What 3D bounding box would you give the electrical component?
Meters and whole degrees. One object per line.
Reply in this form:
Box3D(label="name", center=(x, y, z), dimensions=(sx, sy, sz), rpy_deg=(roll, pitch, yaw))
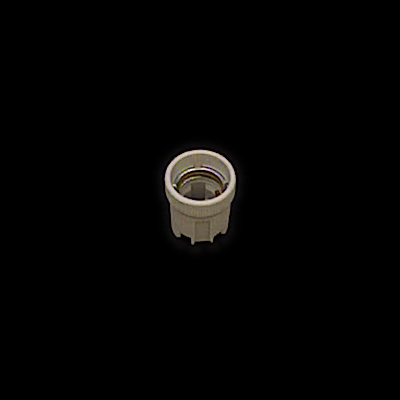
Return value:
Box3D(label="electrical component", center=(0.000, 0.000, 0.629), dimensions=(0.040, 0.040, 0.046), rpy_deg=(0, -38, -1))
